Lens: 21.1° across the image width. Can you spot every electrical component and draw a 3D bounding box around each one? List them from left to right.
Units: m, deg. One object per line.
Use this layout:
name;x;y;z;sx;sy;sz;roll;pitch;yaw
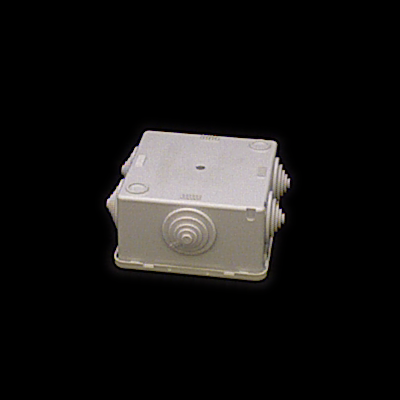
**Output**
electrical component;0.000;0.000;0.636;0.099;0.049;0.099;5;32;7
